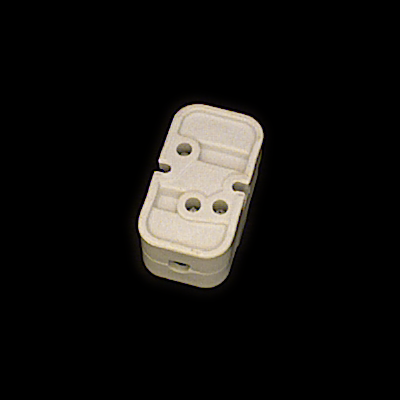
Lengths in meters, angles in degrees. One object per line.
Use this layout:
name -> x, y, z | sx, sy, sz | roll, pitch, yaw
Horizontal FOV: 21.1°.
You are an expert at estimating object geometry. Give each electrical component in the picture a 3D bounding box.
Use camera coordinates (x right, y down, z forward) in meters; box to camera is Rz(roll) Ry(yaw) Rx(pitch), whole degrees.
electrical component -> 0.000, 0.000, 0.635 | 0.053, 0.095, 0.059 | 14, -26, 7
